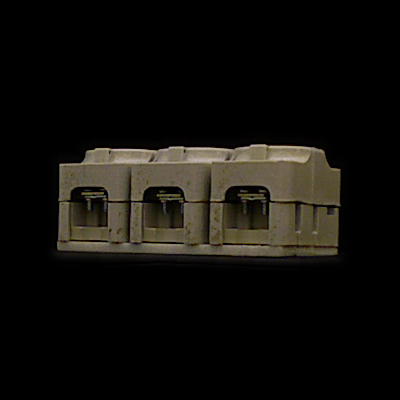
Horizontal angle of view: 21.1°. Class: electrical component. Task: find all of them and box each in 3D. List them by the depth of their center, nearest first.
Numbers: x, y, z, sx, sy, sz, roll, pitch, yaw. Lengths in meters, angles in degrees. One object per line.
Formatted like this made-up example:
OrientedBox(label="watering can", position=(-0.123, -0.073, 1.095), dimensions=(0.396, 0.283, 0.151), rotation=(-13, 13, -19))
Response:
OrientedBox(label="electrical component", position=(0.000, 0.000, 0.655), dimensions=(0.150, 0.062, 0.089), rotation=(0, 0, 27))
